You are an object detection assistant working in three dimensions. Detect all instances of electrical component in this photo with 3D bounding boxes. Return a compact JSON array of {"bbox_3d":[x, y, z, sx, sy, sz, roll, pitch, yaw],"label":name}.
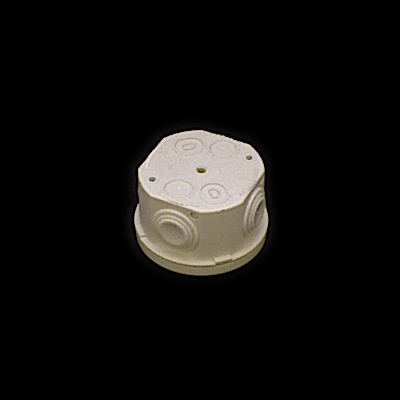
[{"bbox_3d":[0.000,0.000,0.633,0.080,0.051,0.080,0,43,0],"label":"electrical component"}]
